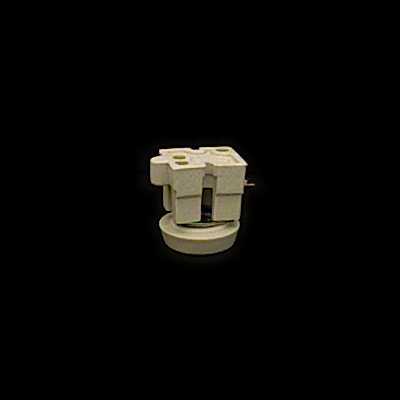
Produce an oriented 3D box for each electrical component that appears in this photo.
[{"bbox_3d":[0.000,0.000,0.646,0.067,0.056,0.047,-4,21,-15],"label":"electrical component"}]
